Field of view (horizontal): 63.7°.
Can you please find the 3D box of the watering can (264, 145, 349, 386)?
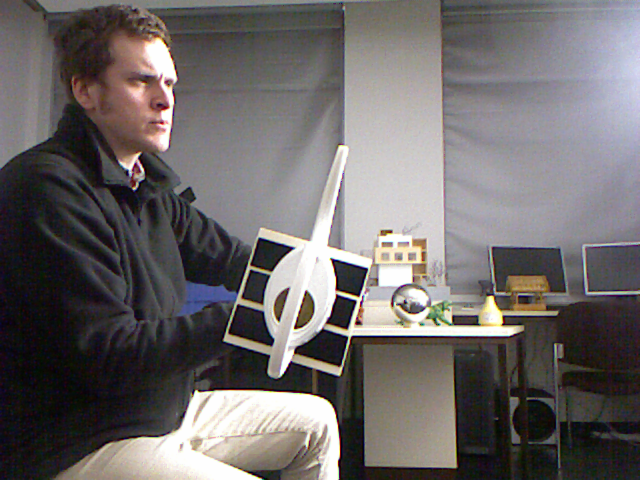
[{"bbox_3d":[-0.011,0.044,0.784,0.104,0.351,0.224,18,-7,5],"label":"watering can"}]
